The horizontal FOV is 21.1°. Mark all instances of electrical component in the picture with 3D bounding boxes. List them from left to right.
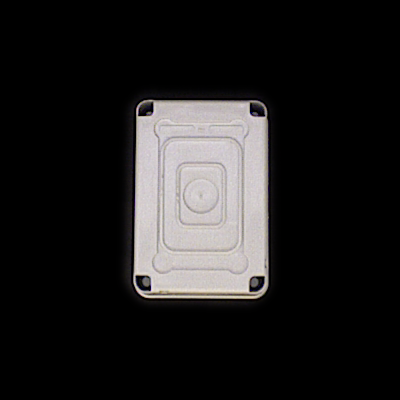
[{"bbox_3d":[0.000,0.000,0.628,0.078,0.113,0.057,1,-7,1],"label":"electrical component"}]
